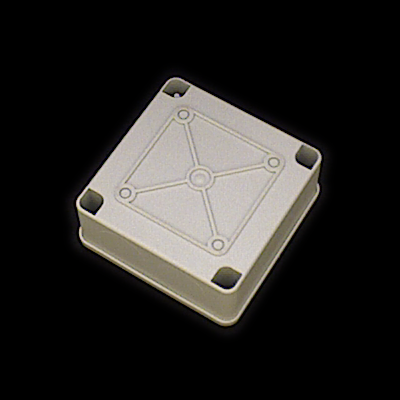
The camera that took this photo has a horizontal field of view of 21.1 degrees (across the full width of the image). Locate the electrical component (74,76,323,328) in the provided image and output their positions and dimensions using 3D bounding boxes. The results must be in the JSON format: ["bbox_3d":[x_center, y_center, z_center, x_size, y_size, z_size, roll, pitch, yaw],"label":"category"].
[{"bbox_3d":[0.000,0.000,0.629,0.108,0.109,0.056,29,-24,14],"label":"electrical component"}]
